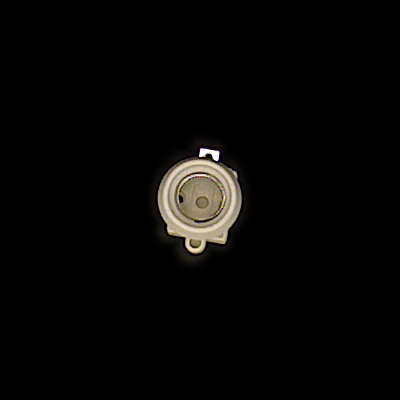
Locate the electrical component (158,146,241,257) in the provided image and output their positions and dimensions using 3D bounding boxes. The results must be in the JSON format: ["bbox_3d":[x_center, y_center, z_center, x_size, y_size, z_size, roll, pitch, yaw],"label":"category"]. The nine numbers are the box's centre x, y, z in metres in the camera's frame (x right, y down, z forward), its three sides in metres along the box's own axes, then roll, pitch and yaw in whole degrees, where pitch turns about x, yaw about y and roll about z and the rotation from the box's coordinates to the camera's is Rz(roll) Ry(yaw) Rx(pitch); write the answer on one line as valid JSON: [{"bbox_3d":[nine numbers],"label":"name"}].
[{"bbox_3d":[0.000,0.000,0.639,0.048,0.066,0.055,9,-6,0],"label":"electrical component"}]
